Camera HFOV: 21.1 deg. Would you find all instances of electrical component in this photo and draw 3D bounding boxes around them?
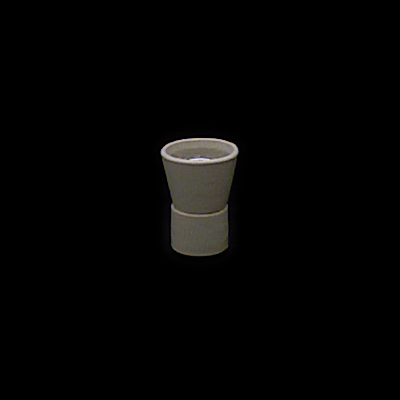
[{"bbox_3d":[0.000,0.000,0.636,0.044,0.066,0.044,0,22,0],"label":"electrical component"}]
